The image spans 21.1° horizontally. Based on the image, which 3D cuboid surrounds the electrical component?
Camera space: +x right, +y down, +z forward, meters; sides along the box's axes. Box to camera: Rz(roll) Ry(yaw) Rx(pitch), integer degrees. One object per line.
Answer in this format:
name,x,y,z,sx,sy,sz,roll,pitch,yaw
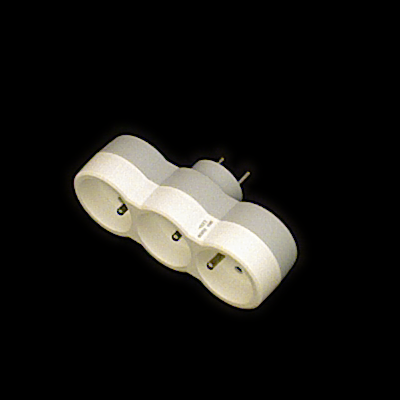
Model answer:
electrical component,0.000,0.000,0.640,0.137,0.074,0.052,30,-33,20
